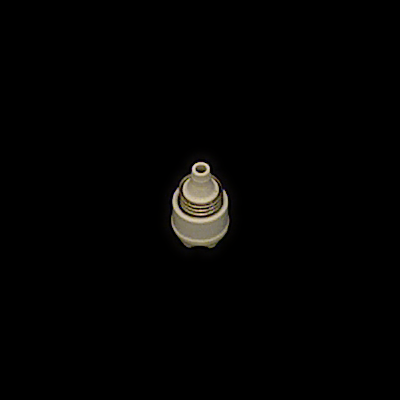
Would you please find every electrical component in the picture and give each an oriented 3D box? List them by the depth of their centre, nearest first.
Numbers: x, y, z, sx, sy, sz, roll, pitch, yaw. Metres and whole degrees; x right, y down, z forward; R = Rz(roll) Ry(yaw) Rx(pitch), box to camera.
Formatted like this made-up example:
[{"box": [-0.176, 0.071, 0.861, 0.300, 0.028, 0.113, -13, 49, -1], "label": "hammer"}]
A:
[{"box": [0.000, 0.000, 0.639, 0.035, 0.035, 0.062, 0, -38, -2], "label": "electrical component"}]
